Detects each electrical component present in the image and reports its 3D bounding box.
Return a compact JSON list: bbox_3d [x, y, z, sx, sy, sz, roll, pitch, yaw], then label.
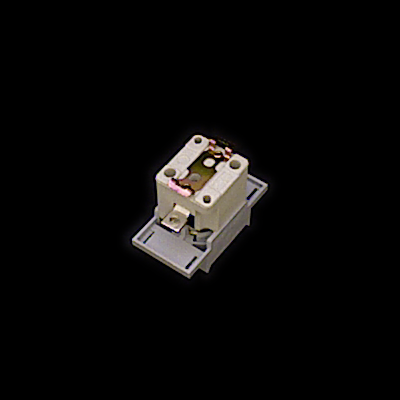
[{"bbox_3d":[0.000,0.000,0.628,0.042,0.081,0.064,29,-32,21],"label":"electrical component"}]
